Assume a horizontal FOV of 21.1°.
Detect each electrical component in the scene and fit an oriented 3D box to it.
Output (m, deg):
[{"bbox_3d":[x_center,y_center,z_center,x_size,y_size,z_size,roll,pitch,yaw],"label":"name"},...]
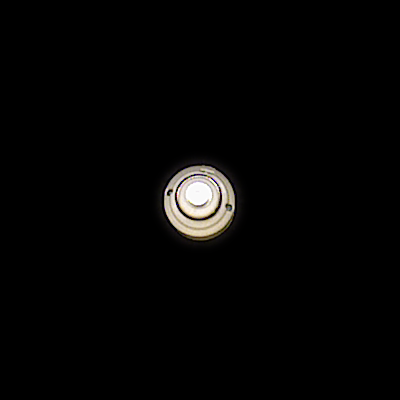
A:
[{"bbox_3d":[0.000,0.000,0.618,0.040,0.040,0.078,0,-6,1],"label":"electrical component"}]
